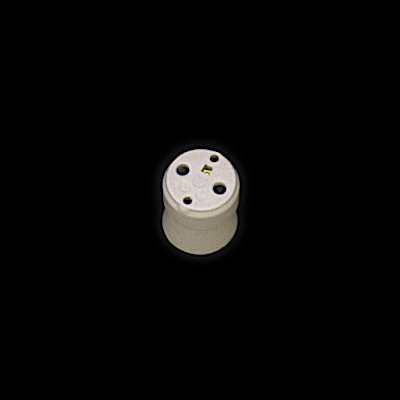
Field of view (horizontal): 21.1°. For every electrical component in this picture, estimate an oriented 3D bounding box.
[{"bbox_3d":[0.000,0.000,0.628,0.045,0.045,0.055,0,-26,0],"label":"electrical component"}]
